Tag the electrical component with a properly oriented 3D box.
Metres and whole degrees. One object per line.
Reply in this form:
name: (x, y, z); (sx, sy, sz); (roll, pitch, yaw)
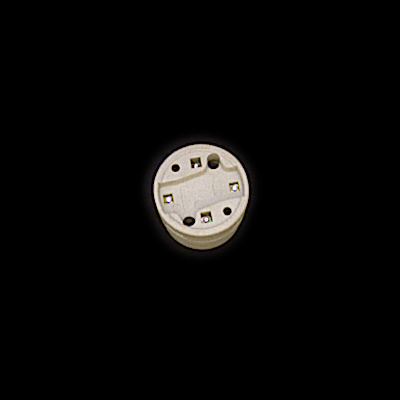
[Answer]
electrical component: (0.000, 0.000, 0.634); (0.055, 0.056, 0.047); (0, -17, 0)
